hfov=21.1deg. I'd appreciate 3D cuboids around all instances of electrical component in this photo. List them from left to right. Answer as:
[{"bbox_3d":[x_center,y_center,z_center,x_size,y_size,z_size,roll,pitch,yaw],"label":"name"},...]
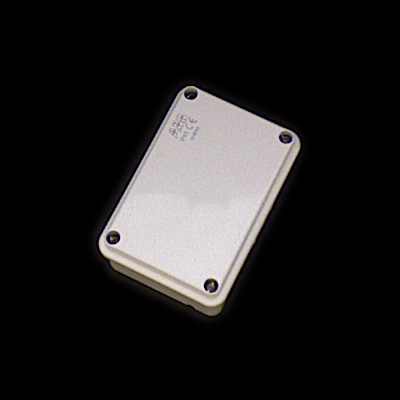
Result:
[{"bbox_3d":[0.000,0.000,0.627,0.078,0.113,0.057,25,-15,8],"label":"electrical component"}]
